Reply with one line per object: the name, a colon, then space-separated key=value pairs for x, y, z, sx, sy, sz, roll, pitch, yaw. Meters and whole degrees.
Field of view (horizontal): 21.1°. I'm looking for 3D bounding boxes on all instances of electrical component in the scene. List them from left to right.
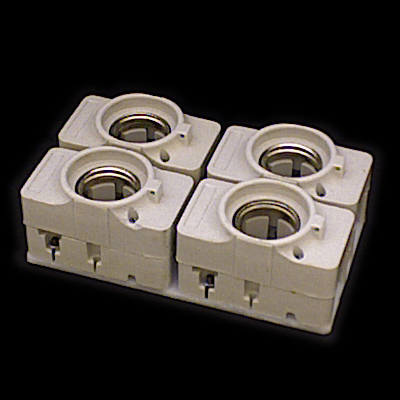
electrical component: x=0.000 y=0.000 z=0.631 sx=0.186 sy=0.061 sz=0.104 roll=13 pitch=43 yaw=12
